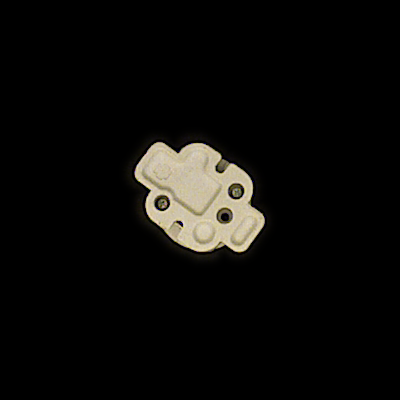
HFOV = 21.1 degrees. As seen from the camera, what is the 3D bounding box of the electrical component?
[{"bbox_3d":[0.000,0.000,0.637,0.078,0.058,0.056,35,-3,5],"label":"electrical component"}]
